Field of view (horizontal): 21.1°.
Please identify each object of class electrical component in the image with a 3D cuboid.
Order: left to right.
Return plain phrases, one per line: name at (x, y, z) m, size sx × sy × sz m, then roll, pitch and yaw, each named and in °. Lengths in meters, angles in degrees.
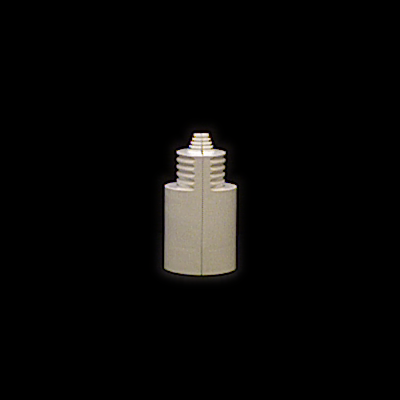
electrical component at (0.000, 0.000, 0.643) m, size 0.043 × 0.081 × 0.043 m, roll 1°, pitch 11°, yaw 0°
